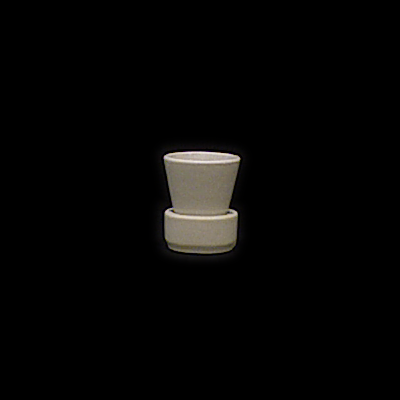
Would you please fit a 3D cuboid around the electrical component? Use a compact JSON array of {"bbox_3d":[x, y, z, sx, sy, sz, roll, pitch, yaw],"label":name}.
[{"bbox_3d":[0.000,0.000,0.645,0.045,0.055,0.044,2,11,0],"label":"electrical component"}]
